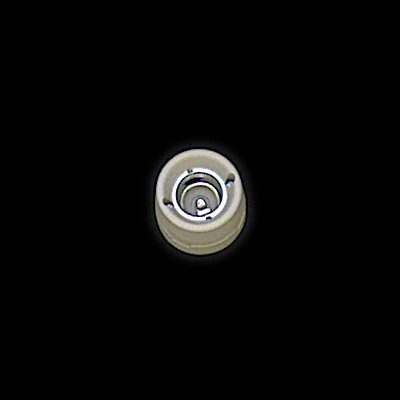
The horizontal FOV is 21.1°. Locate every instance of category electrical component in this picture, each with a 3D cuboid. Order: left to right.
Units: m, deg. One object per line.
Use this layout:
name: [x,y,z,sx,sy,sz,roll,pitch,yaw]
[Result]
electrical component: [0.000,0.000,0.633,0.055,0.056,0.047,0,-17,1]
